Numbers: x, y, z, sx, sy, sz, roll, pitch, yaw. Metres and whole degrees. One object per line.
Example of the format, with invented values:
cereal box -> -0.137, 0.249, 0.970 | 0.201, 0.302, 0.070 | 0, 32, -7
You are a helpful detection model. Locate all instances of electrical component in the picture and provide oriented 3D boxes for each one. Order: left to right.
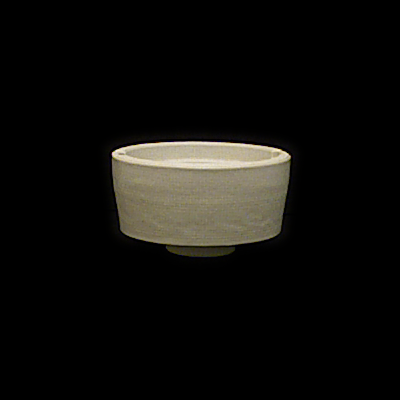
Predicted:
electrical component -> 0.000, 0.000, 0.654 | 0.108, 0.061, 0.107 | 1, 11, 0
